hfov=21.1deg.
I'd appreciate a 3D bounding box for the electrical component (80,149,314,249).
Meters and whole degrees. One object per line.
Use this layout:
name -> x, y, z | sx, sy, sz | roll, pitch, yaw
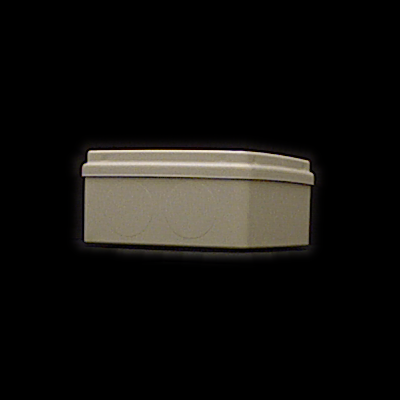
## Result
electrical component -> 0.000, 0.000, 0.650 | 0.108, 0.056, 0.109 | 2, 0, 26
